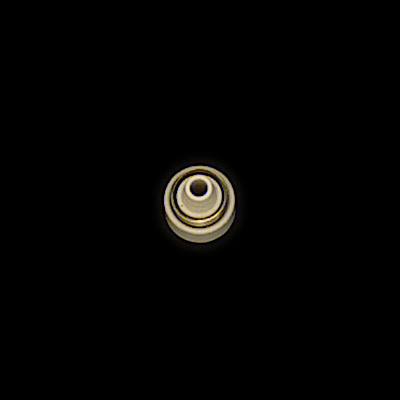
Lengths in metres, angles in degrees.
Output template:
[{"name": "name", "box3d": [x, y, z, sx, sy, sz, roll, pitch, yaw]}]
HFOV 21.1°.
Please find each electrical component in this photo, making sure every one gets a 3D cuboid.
[{"name": "electrical component", "box3d": [0.000, 0.000, 0.633, 0.043, 0.043, 0.061, 0, -14, 1]}]
